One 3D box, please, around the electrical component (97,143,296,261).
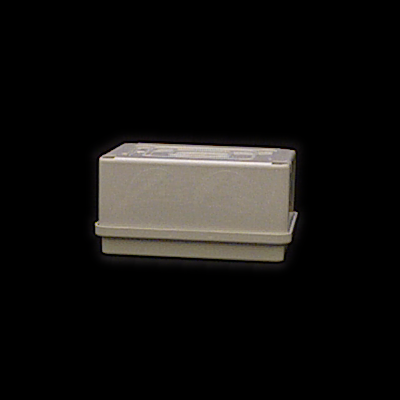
[{"bbox_3d":[0.000,0.000,0.644,0.113,0.057,0.077,2,11,7],"label":"electrical component"}]
